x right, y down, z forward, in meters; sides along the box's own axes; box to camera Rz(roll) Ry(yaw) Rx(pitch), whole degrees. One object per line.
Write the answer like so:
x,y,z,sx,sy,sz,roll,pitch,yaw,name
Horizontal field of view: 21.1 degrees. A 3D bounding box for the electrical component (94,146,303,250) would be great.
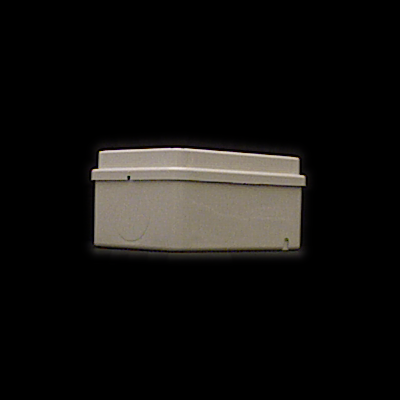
0.000,0.000,0.648,0.113,0.057,0.078,2,0,-45,electrical component
